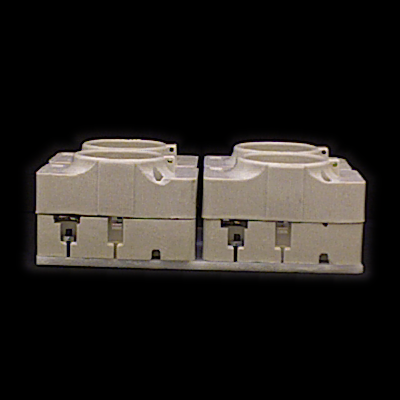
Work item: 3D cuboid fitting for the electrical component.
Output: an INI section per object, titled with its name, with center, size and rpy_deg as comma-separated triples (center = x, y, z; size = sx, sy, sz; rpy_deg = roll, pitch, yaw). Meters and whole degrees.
[electrical component]
center = 0.000, 0.000, 0.645
size = 0.186, 0.060, 0.104
rpy_deg = 2, 10, 0
